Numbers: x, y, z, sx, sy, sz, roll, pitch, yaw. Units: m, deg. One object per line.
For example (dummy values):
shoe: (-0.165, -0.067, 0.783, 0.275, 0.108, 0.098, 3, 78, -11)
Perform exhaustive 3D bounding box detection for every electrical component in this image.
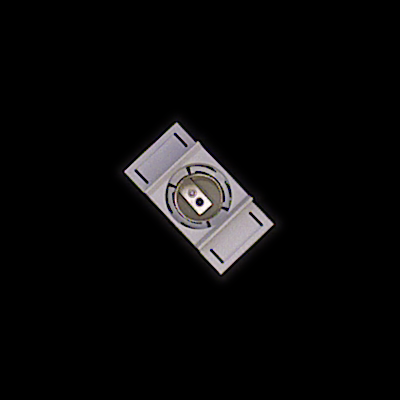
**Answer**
electrical component: (0.000, 0.000, 0.625, 0.042, 0.081, 0.063, -43, -4, -3)
